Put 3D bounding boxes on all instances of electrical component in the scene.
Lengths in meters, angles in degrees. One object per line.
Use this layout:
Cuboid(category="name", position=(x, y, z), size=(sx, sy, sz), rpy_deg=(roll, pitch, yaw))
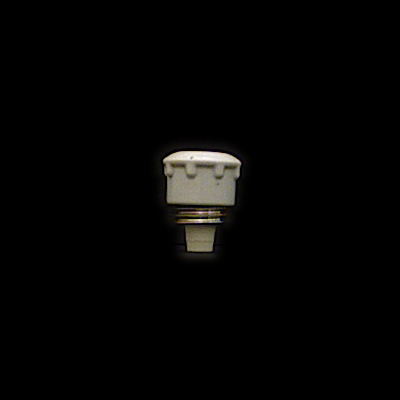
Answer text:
Cuboid(category="electrical component", position=(0.000, 0.000, 0.659), size=(0.048, 0.062, 0.048), rpy_deg=(2, 2, 1))
